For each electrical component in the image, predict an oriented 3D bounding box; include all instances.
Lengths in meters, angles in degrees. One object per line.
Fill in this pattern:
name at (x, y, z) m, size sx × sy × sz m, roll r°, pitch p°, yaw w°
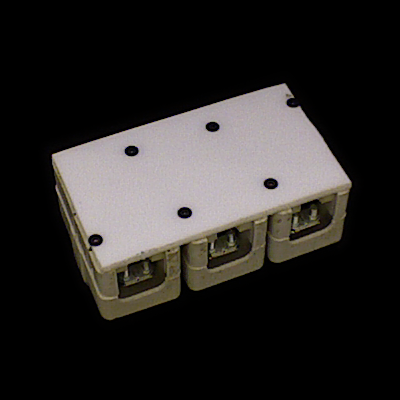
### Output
electrical component at (0.000, 0.000, 0.631) m, size 0.150 × 0.088 × 0.062 m, roll -18°, pitch -36°, yaw -14°
